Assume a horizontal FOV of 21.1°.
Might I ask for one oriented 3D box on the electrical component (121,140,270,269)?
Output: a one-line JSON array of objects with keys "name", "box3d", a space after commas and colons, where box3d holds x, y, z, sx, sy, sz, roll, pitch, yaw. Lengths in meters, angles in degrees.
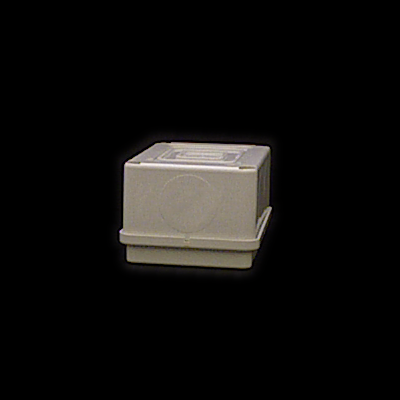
[{"name": "electrical component", "box3d": [0.000, 0.000, 0.644, 0.078, 0.057, 0.112, 3, 11, 7]}]
